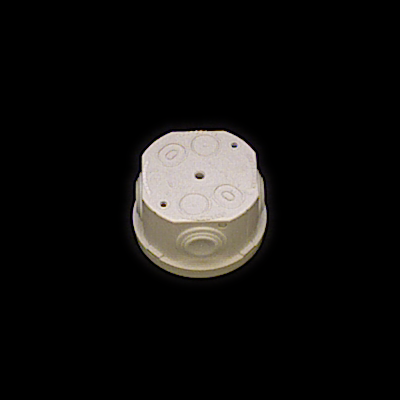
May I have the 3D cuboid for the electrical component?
[{"bbox_3d":[0.000,0.000,0.631,0.080,0.080,0.051,0,-37,0],"label":"electrical component"}]
